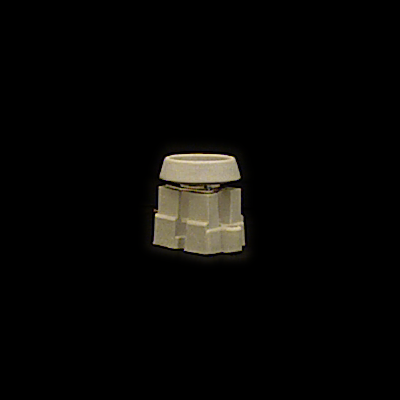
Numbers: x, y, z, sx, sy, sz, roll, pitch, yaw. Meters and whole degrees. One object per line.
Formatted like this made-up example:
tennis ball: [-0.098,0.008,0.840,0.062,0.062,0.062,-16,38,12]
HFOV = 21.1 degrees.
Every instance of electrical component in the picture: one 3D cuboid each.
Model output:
electrical component: [0.000,0.000,0.651,0.065,0.056,0.049,10,13,37]
